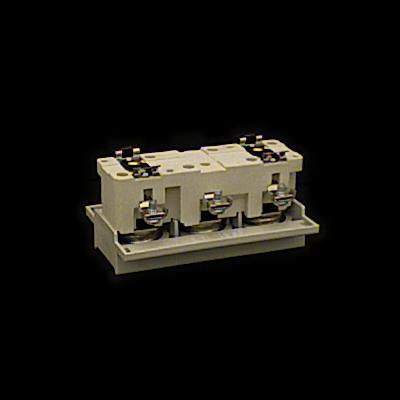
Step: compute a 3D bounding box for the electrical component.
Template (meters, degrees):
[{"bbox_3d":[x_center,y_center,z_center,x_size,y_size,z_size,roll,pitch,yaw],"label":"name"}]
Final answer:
[{"bbox_3d":[0.000,0.000,0.648,0.122,0.064,0.077,-7,22,-21],"label":"electrical component"}]
